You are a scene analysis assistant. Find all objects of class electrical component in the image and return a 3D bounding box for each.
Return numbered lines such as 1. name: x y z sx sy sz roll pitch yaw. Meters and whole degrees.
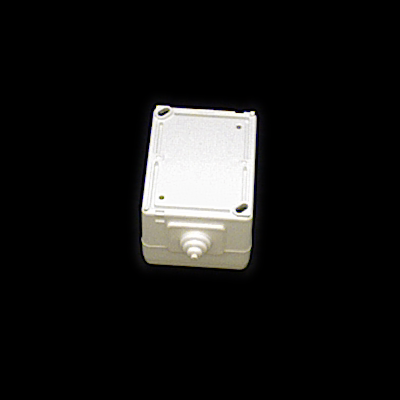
1. electrical component: 0.000 0.000 0.623 0.062 0.096 0.061 3 -38 1
